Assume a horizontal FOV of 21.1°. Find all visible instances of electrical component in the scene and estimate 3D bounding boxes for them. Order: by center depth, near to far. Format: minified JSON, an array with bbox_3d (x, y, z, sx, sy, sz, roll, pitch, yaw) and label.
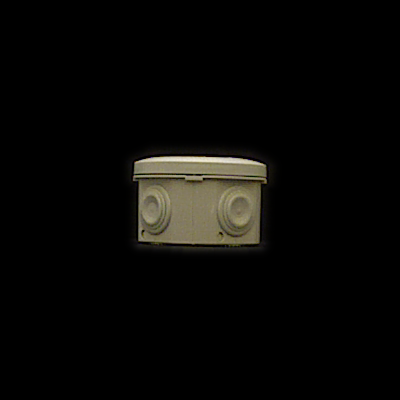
[{"bbox_3d":[0.000,0.000,0.647,0.080,0.051,0.080,1,0,0],"label":"electrical component"}]
